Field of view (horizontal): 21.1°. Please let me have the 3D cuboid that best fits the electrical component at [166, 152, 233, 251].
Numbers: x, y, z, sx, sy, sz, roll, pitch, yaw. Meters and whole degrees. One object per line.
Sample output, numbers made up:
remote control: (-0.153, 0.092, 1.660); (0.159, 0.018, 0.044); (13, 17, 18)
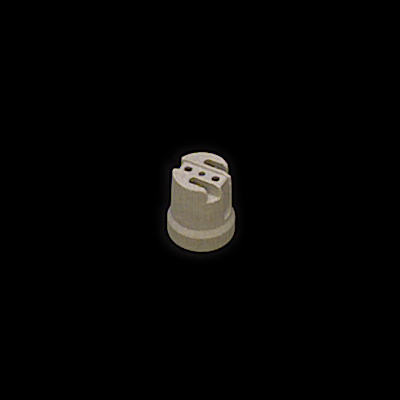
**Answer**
electrical component: (0.000, 0.000, 0.634); (0.040, 0.046, 0.040); (0, 43, 0)
